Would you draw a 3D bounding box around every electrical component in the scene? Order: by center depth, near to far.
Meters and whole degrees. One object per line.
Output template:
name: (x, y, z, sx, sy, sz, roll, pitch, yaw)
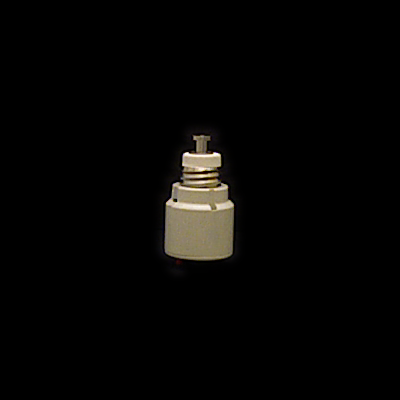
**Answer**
electrical component: (0.000, 0.000, 0.644, 0.040, 0.079, 0.040, 2, 12, 0)
